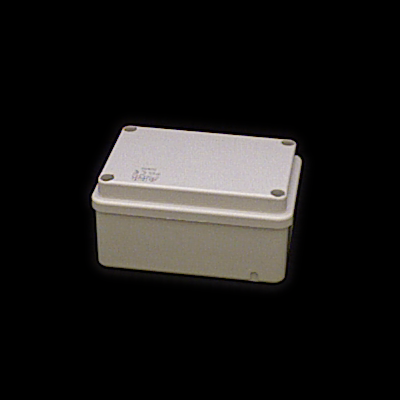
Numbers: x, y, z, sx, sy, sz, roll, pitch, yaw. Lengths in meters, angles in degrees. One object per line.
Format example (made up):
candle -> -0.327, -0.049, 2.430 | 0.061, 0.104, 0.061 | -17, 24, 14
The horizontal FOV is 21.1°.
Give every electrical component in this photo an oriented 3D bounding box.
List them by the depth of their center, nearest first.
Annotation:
electrical component -> 0.000, 0.000, 0.632 | 0.113, 0.058, 0.077 | 5, 32, 7
